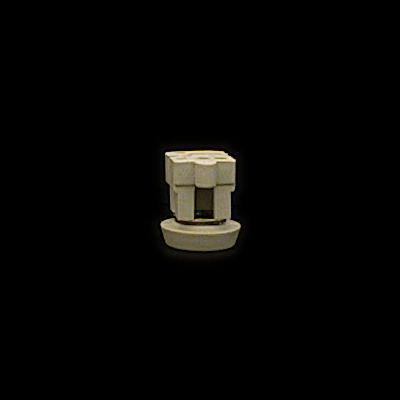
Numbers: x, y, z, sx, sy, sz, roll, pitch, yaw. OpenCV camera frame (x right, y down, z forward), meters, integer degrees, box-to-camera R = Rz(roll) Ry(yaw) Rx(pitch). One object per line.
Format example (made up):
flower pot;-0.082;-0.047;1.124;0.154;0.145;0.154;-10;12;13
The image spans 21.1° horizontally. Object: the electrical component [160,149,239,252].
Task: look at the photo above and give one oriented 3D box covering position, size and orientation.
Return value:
electrical component;0.000;0.000;0.651;0.048;0.056;0.066;-2;11;-9
